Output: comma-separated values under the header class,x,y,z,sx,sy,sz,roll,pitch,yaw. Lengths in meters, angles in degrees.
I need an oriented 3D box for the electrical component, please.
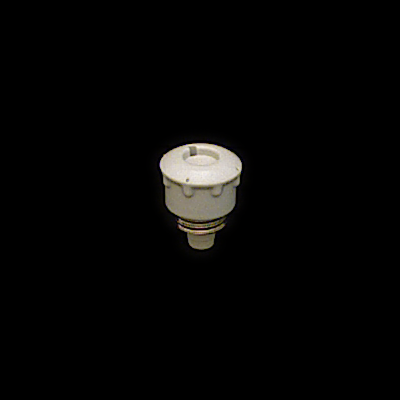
class,x,y,z,sx,sy,sz,roll,pitch,yaw
electrical component,0.000,0.000,0.640,0.048,0.063,0.047,1,32,0
